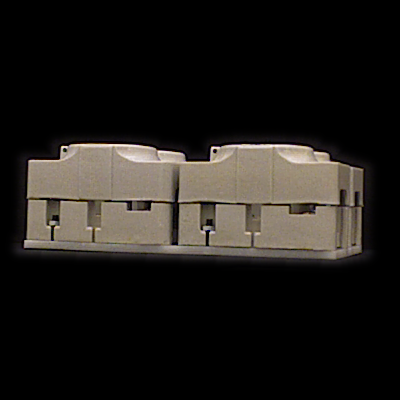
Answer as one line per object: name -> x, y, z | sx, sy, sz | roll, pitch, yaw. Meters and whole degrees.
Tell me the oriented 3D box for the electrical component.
electrical component -> 0.000, 0.000, 0.648 | 0.186, 0.060, 0.105 | 1, 0, 17
